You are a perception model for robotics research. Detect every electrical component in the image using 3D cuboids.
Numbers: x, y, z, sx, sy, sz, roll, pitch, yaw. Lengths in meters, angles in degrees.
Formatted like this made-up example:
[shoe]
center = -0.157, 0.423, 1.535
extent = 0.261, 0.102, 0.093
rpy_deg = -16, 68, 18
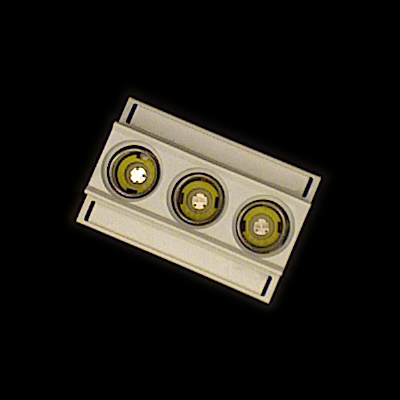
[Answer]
[electrical component]
center = 0.000, 0.000, 0.637
extent = 0.121, 0.079, 0.063
rpy_deg = 23, -4, 3
